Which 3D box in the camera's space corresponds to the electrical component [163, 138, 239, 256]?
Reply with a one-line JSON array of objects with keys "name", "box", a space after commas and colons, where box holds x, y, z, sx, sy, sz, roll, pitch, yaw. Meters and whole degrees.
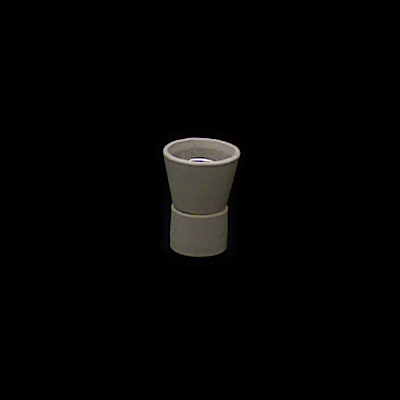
[{"name": "electrical component", "box": [0.000, 0.000, 0.637, 0.044, 0.066, 0.044, 2, 22, -1]}]
